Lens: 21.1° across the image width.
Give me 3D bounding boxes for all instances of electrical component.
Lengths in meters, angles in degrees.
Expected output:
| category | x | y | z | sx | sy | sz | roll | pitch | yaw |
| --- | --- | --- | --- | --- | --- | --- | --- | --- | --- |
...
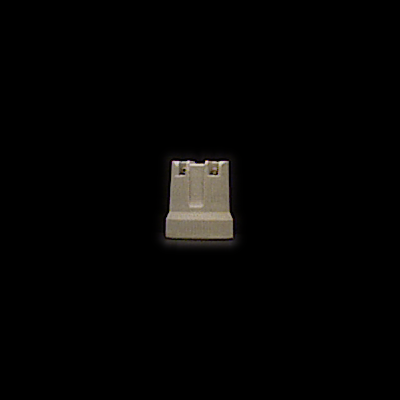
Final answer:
| category | x | y | z | sx | sy | sz | roll | pitch | yaw |
| --- | --- | --- | --- | --- | --- | --- | --- | --- | --- |
| electrical component | 0.000 | 0.000 | 0.649 | 0.040 | 0.046 | 0.040 | 1 | 1 | 0 |
